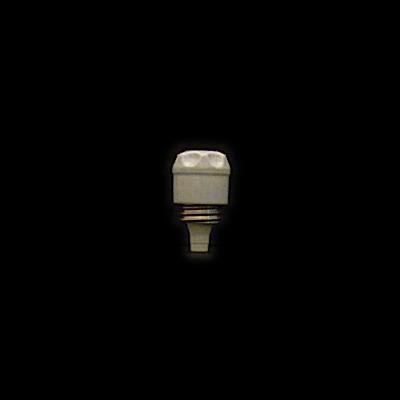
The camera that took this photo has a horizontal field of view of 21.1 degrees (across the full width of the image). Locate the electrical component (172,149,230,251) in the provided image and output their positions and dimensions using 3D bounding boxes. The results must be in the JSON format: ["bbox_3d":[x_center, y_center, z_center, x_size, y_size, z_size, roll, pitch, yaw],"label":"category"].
[{"bbox_3d":[0.000,0.000,0.655,0.035,0.061,0.035,1,2,0],"label":"electrical component"}]
